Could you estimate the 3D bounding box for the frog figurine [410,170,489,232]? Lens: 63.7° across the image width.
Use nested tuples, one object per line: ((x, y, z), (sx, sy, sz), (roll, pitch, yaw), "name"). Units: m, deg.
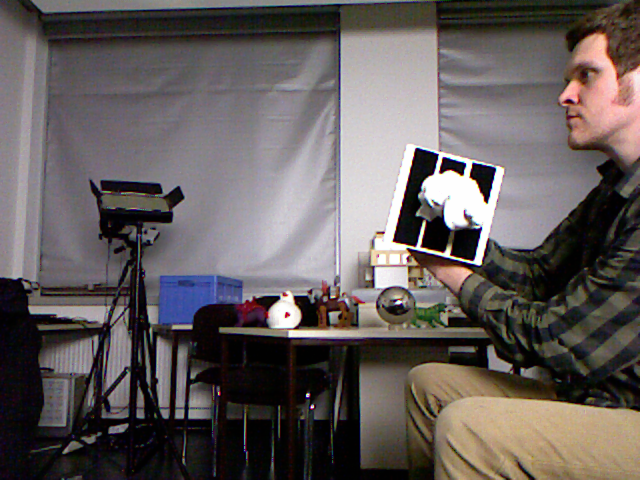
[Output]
((0.260, -0.077, 0.979), (0.137, 0.124, 0.159), (34, -7, -6), "frog figurine")
